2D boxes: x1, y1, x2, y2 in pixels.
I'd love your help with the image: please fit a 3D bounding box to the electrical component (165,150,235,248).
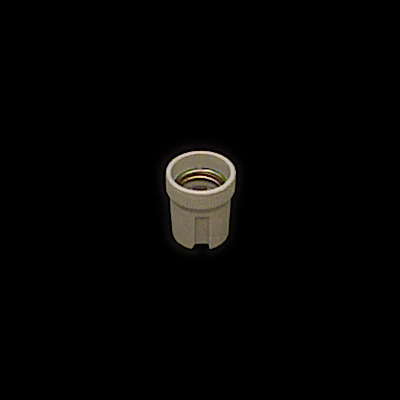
[{"bbox_3d":[0.000,0.000,0.635,0.040,0.047,0.039,1,42,0],"label":"electrical component"}]
